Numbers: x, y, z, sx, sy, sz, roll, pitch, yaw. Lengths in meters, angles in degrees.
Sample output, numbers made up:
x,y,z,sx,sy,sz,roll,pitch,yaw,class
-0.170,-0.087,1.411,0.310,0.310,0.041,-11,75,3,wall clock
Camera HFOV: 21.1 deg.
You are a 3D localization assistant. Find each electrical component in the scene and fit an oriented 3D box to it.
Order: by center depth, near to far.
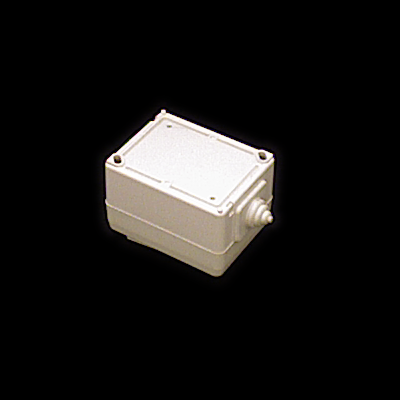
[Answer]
x,y,z,sx,sy,sz,roll,pitch,yaw,class
0.000,0.000,0.629,0.096,0.061,0.061,24,47,22,electrical component
